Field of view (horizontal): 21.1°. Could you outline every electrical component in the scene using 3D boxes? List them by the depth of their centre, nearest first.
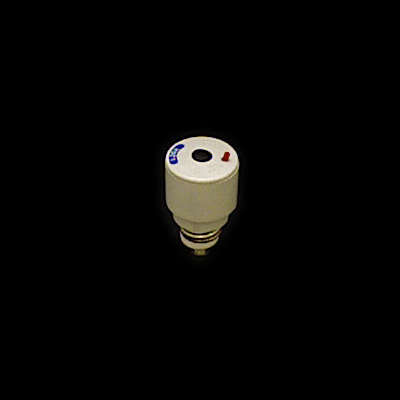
[{"bbox_3d":[0.000,0.000,0.623,0.040,0.079,0.039,1,42,-1],"label":"electrical component"}]
